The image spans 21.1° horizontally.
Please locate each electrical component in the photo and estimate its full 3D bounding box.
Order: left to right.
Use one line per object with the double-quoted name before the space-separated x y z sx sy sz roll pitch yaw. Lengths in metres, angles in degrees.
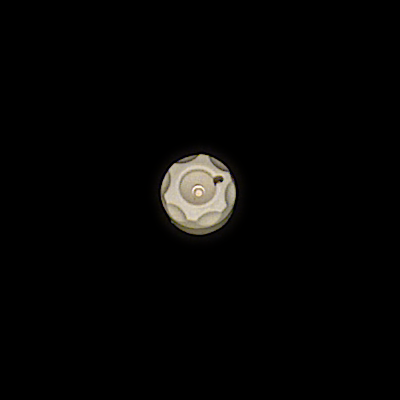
"electrical component" 0.000 0.000 0.634 0.043 0.043 0.061 0 -15 1
